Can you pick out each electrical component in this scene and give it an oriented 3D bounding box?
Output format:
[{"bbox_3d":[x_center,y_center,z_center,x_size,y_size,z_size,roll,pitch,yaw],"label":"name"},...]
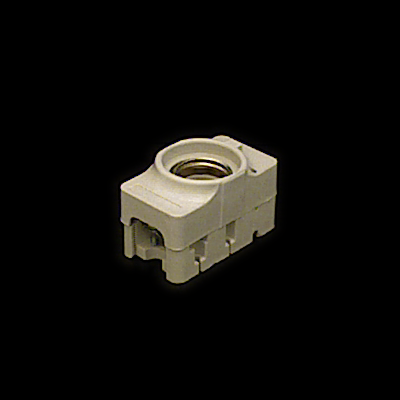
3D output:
[{"bbox_3d":[0.000,0.000,0.642,0.049,0.056,0.090,26,40,34],"label":"electrical component"}]
